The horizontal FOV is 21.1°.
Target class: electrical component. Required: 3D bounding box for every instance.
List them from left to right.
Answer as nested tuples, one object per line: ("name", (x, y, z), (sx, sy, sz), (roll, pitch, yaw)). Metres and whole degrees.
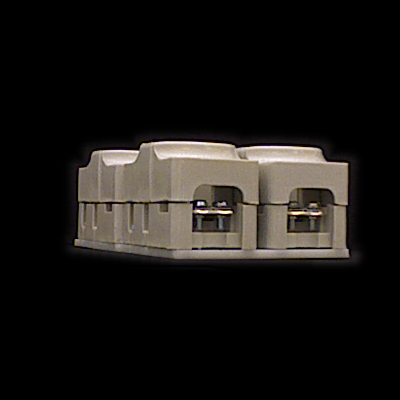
("electrical component", (0.000, 0.000, 0.649), (0.106, 0.060, 0.186), (1, -1, -23))
